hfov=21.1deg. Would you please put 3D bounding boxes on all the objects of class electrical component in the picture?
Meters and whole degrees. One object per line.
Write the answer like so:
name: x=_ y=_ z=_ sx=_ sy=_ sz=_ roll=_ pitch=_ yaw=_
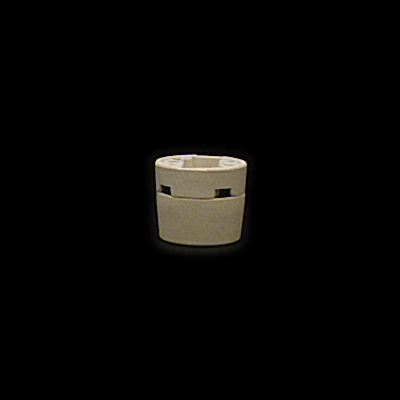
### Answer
electrical component: x=0.000 y=0.000 z=0.645 sx=0.055 sy=0.047 sz=0.055 roll=1 pitch=11 yaw=0
